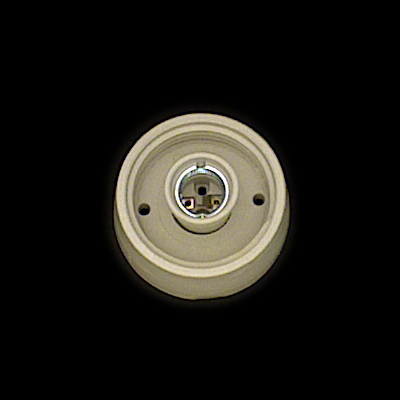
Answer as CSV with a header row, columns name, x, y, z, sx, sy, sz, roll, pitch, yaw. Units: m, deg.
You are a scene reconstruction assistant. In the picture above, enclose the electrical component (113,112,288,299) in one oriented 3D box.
name,x,y,z,sx,sy,sz,roll,pitch,yaw
electrical component,0.000,0.000,0.633,0.108,0.108,0.060,0,-16,0
